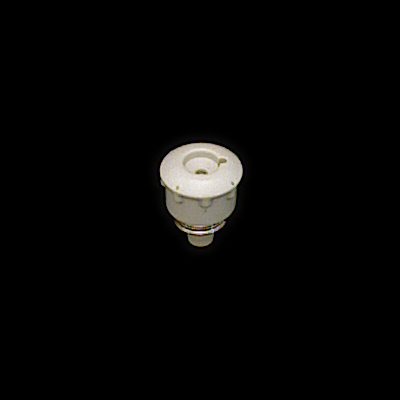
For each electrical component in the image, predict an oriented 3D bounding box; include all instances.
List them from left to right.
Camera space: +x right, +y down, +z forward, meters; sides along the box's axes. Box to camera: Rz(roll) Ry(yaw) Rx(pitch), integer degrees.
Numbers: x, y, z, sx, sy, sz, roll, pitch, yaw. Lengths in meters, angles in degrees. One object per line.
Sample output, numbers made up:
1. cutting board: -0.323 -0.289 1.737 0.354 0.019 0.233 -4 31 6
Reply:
1. electrical component: 0.000 0.000 0.639 0.048 0.062 0.047 1 43 0
